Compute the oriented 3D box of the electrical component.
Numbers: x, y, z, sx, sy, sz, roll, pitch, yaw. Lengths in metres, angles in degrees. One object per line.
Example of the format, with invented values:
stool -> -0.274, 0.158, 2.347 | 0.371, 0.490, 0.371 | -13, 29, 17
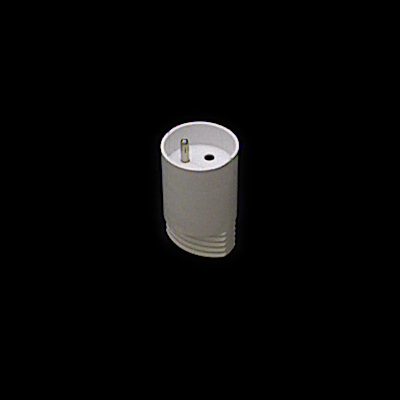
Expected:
electrical component -> 0.000, 0.000, 0.622 | 0.043, 0.082, 0.042 | 0, 41, 0
